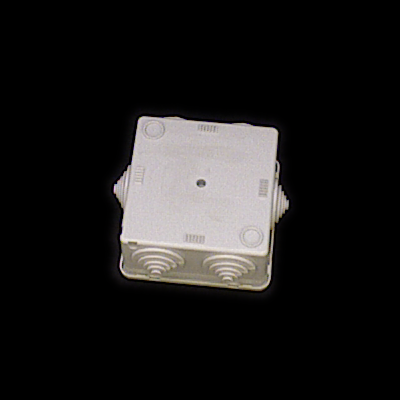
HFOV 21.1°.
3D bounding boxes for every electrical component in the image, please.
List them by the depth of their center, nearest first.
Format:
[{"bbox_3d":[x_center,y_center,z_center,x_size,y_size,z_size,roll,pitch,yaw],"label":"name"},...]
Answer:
[{"bbox_3d":[0.000,0.000,0.631,0.100,0.100,0.048,5,-27,3],"label":"electrical component"}]
